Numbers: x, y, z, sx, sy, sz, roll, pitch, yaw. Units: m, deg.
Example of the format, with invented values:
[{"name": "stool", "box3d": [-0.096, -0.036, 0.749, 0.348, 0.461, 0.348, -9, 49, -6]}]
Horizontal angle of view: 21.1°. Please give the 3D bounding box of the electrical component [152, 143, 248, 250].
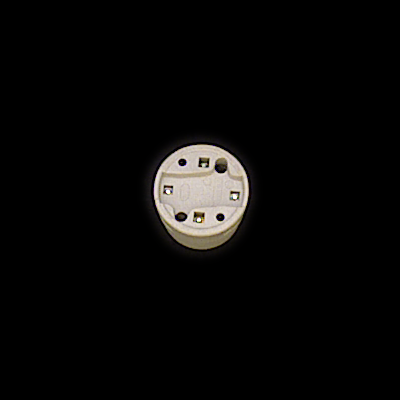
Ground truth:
[{"name": "electrical component", "box3d": [0.000, 0.000, 0.635, 0.055, 0.056, 0.047, 0, -17, 1]}]
